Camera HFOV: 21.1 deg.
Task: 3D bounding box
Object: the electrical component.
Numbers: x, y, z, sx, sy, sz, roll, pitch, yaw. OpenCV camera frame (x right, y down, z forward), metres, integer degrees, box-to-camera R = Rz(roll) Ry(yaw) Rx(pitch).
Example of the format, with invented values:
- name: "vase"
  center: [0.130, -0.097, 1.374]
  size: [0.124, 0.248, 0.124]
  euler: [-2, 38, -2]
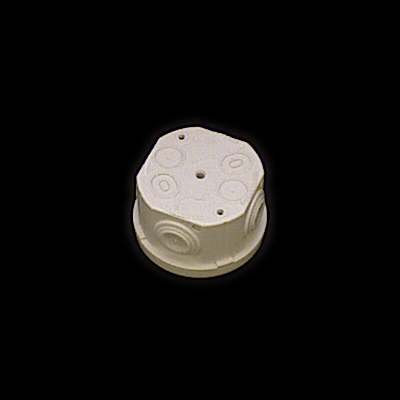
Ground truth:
- name: "electrical component"
  center: [0.000, 0.000, 0.632]
  size: [0.080, 0.080, 0.051]
  euler: [0, -37, -1]
